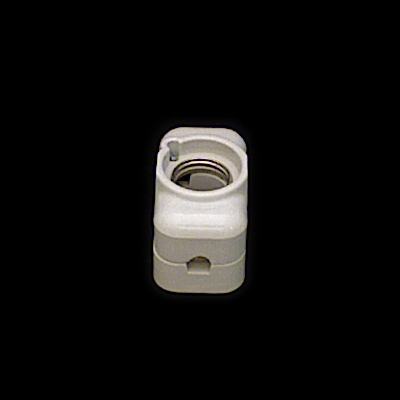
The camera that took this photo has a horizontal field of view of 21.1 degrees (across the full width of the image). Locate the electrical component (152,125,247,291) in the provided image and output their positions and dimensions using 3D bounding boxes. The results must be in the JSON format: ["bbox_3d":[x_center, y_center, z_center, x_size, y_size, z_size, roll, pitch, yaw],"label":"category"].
[{"bbox_3d":[0.000,0.000,0.638,0.054,0.060,0.094,1,42,0],"label":"electrical component"}]
